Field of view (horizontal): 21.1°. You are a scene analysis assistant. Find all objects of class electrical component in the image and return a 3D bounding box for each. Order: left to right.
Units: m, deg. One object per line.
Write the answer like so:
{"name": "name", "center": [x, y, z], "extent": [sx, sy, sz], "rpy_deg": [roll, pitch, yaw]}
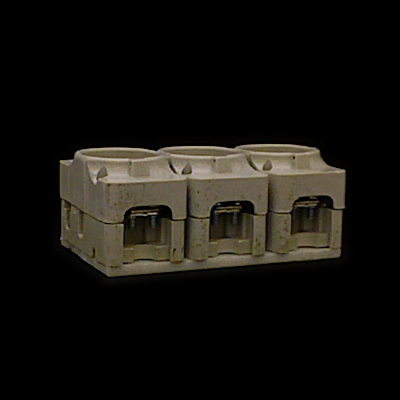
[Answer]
{"name": "electrical component", "center": [0.000, 0.000, 0.649], "extent": [0.150, 0.062, 0.088], "rpy_deg": [-4, 12, -25]}
